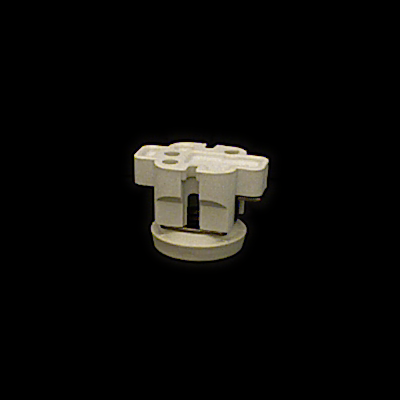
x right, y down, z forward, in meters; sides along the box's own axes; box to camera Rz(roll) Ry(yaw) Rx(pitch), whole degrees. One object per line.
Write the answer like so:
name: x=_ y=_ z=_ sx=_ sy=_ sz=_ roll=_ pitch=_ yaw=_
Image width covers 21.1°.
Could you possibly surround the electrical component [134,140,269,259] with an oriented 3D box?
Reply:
electrical component: x=0.000 y=0.000 z=0.647 sx=0.078 sy=0.057 sz=0.057 roll=7 pitch=22 yaw=10
